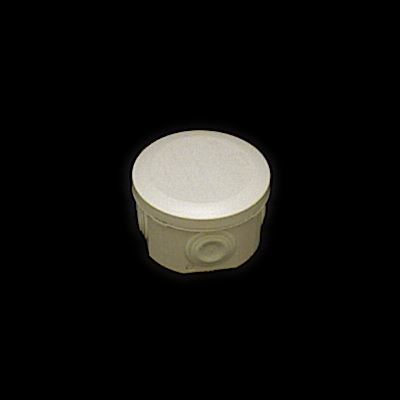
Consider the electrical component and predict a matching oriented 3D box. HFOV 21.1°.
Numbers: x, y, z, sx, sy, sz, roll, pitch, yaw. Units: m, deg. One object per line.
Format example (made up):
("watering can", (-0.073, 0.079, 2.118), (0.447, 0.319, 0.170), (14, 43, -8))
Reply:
("electrical component", (0.000, 0.000, 0.632), (0.080, 0.051, 0.080), (0, 42, 0))
